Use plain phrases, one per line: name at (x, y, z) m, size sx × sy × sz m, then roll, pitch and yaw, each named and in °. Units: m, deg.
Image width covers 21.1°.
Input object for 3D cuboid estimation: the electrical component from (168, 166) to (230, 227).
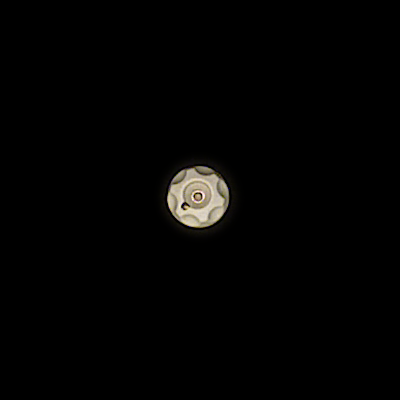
electrical component at (0.000, 0.000, 0.635) m, size 0.035 × 0.035 × 0.061 m, roll 0°, pitch -5°, yaw 1°
